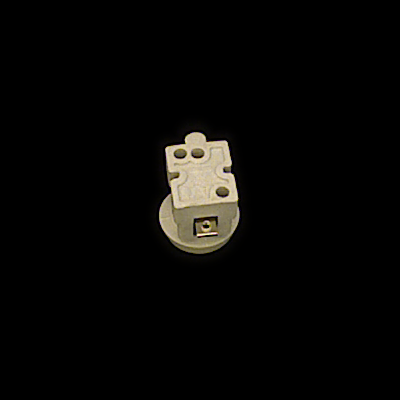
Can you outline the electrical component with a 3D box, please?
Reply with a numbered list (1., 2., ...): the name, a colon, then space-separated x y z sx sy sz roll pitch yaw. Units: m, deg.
1. electrical component: 0.000 0.000 0.639 0.048 0.066 0.055 -6 -36 -6
